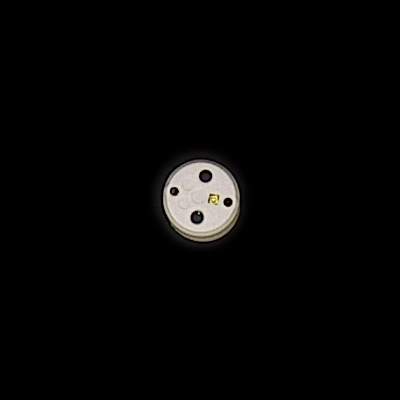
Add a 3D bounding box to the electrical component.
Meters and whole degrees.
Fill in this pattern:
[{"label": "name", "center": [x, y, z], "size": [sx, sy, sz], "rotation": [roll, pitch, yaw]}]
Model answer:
[{"label": "electrical component", "center": [0.000, 0.000, 0.629], "size": [0.045, 0.045, 0.055], "rotation": [0, -6, 1]}]
